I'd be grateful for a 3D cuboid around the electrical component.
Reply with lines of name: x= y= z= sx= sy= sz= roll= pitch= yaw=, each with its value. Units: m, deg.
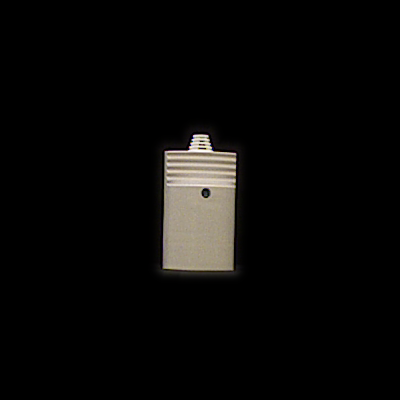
electrical component: x=0.000 y=0.000 z=0.649 sx=0.043 sy=0.081 sz=0.043 roll=1 pitch=1 yaw=0
